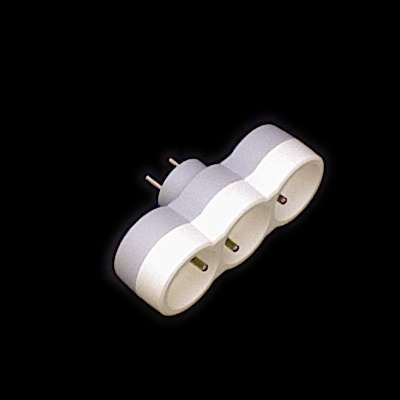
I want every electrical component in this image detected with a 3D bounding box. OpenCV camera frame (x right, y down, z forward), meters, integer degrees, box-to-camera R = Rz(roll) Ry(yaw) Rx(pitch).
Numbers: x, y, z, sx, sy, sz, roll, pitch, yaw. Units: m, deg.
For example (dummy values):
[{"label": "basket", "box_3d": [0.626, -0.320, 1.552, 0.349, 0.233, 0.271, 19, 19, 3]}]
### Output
[{"label": "electrical component", "box_3d": [0.000, 0.000, 0.630, 0.073, 0.052, 0.138, 37, 62, 27]}]
